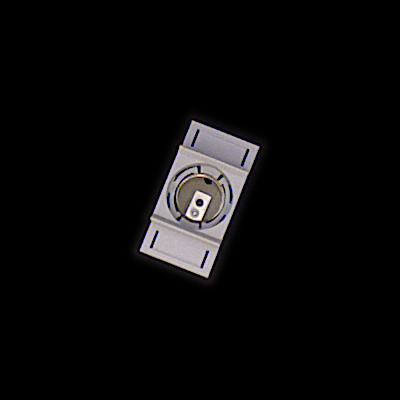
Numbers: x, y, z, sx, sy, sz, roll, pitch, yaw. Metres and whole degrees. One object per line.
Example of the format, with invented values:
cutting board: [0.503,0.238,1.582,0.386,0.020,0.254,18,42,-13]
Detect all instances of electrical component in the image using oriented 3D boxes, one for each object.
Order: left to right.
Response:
electrical component: [0.000,0.000,0.624,0.042,0.081,0.063,22,-6,1]
